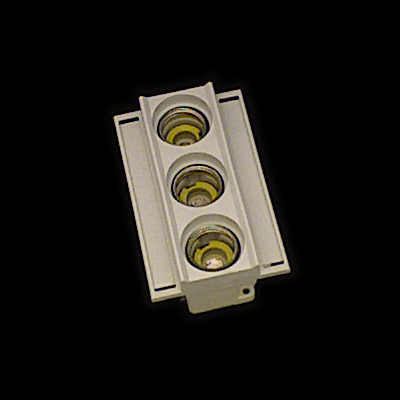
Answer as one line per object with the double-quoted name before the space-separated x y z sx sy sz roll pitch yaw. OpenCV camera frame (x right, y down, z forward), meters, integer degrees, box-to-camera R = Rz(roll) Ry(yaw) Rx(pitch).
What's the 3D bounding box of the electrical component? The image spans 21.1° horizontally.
"electrical component" 0.000 0.000 0.637 0.079 0.121 0.063 -12 -26 -4
